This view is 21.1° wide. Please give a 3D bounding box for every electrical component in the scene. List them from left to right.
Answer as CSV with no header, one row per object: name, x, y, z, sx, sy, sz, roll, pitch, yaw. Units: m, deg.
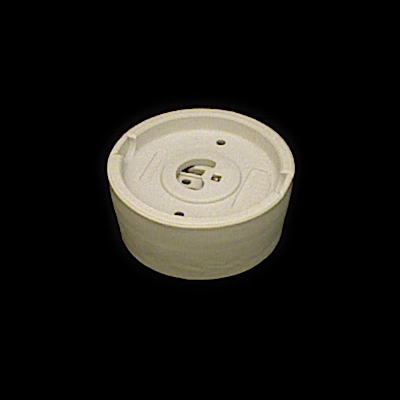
electrical component,0.000,0.000,0.639,0.108,0.061,0.106,0,42,0
